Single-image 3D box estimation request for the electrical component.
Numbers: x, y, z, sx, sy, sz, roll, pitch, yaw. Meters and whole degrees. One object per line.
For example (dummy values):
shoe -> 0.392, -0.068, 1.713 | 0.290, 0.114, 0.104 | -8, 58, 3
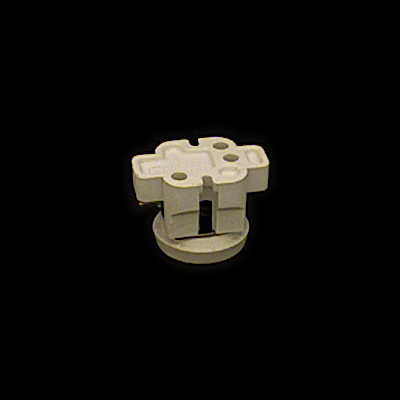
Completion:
electrical component -> 0.000, 0.000, 0.641 | 0.079, 0.057, 0.057 | -7, 34, -10
